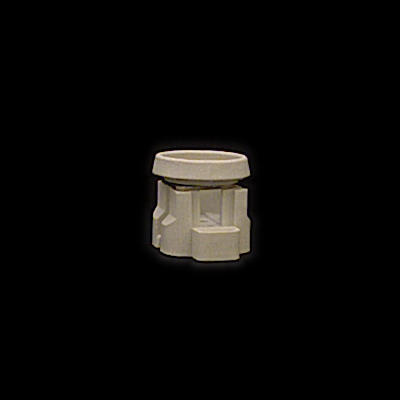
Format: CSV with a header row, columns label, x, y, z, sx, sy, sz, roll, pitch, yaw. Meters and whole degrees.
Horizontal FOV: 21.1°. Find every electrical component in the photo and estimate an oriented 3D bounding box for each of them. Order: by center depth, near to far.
label,x,y,z,sx,sy,sz,roll,pitch,yaw
electrical component,0.000,0.000,0.645,0.058,0.057,0.077,-2,11,-17
